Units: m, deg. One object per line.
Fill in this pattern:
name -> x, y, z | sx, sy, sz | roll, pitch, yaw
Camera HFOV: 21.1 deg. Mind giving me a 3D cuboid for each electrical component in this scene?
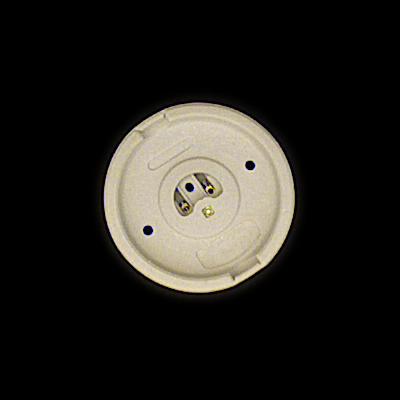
electrical component -> 0.000, 0.000, 0.635 | 0.108, 0.108, 0.060 | 0, -6, 0
